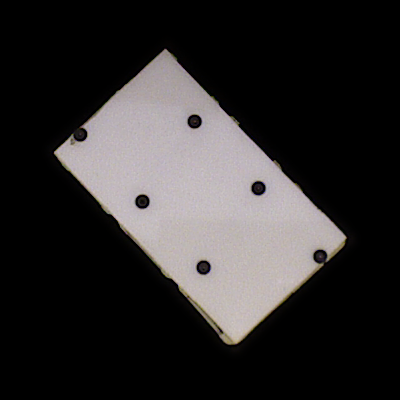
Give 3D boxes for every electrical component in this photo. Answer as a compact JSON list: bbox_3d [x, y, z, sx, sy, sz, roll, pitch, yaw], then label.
[{"bbox_3d":[0.000,0.000,0.631,0.089,0.150,0.061,-43,-4,-4],"label":"electrical component"}]
